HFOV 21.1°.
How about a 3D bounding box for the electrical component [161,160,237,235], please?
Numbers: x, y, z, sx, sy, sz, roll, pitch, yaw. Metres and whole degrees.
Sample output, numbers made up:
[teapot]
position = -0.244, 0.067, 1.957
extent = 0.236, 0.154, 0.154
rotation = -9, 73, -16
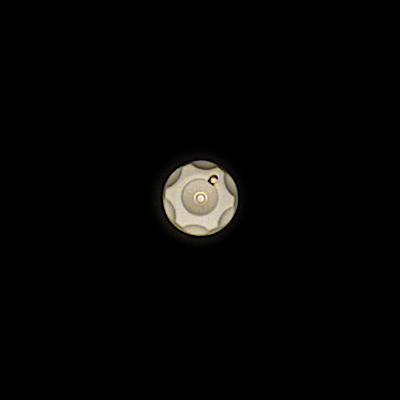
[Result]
[electrical component]
position = 0.000, 0.000, 0.635
extent = 0.043, 0.043, 0.062
rotation = 0, -4, 1
